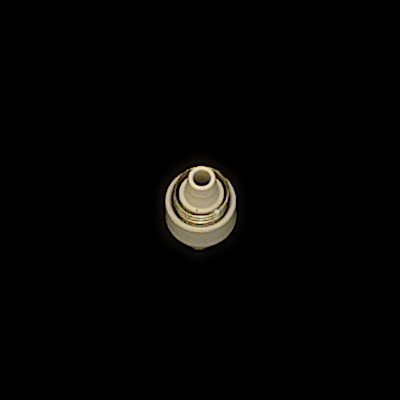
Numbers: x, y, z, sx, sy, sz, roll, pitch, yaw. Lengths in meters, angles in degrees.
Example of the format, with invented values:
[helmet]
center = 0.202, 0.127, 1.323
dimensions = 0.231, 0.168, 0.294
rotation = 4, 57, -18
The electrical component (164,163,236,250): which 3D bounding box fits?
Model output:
[electrical component]
center = 0.000, 0.000, 0.633
dimensions = 0.043, 0.043, 0.062
rotation = 0, -25, -1
